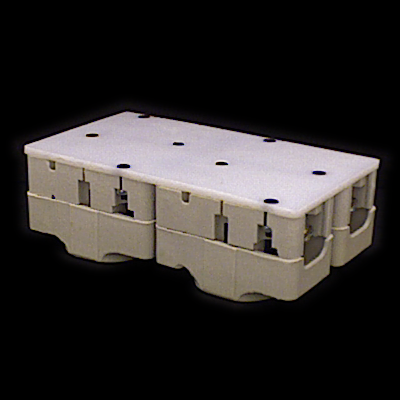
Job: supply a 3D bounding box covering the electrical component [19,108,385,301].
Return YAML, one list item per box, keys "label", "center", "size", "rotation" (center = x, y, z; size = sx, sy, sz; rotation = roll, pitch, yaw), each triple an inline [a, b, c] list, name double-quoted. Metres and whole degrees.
- label: "electrical component"
  center: [0.000, 0.000, 0.639]
  size: [0.185, 0.061, 0.105]
  rotation: [14, 24, 30]
